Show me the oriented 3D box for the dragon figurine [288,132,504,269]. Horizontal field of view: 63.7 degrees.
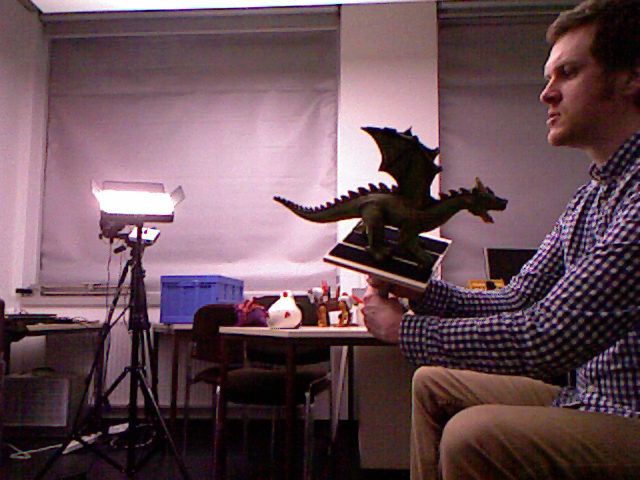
[{"bbox_3d":[0.128,-0.091,0.971,0.412,0.238,0.125,16,31,16],"label":"dragon figurine"}]
